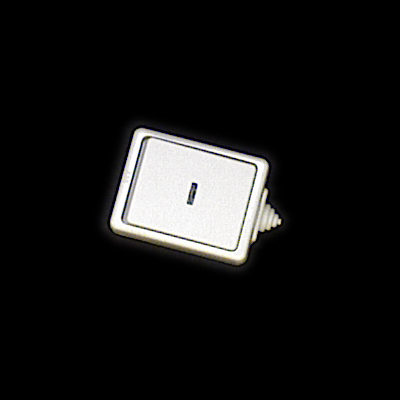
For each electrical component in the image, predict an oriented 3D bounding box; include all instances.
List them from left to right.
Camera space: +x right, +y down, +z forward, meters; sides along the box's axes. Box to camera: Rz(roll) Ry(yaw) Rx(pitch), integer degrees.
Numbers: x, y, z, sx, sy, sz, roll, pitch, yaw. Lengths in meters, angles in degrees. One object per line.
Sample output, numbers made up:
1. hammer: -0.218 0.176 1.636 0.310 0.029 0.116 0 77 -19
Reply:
1. electrical component: 0.000 0.000 0.627 0.096 0.062 0.061 14 -6 2
